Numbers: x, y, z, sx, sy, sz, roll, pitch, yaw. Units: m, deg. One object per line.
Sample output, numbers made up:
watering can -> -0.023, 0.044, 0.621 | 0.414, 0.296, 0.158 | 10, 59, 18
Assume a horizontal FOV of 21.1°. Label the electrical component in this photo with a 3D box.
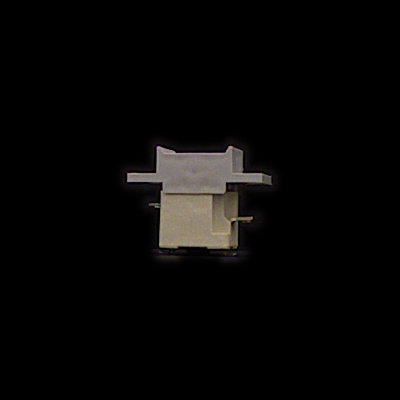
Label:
electrical component -> 0.000, 0.000, 0.649 | 0.081, 0.063, 0.042 | 1, 0, 12
